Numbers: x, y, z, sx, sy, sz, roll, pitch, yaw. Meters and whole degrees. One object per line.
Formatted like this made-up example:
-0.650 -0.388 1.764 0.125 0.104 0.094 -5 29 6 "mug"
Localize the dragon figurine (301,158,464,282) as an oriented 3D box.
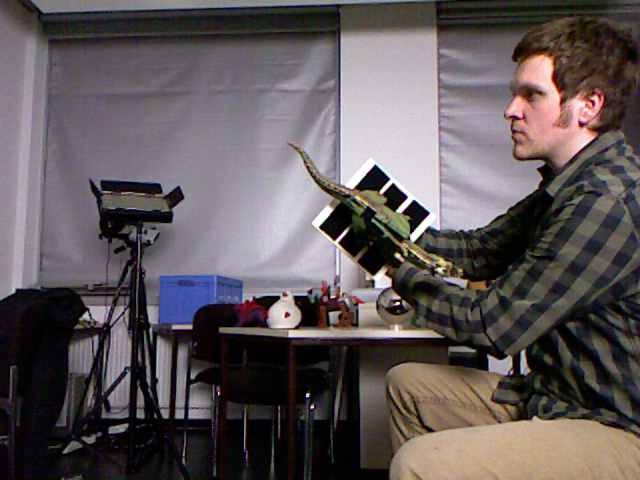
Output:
0.116 -0.045 1.057 0.412 0.123 0.243 37 -1 -2 "dragon figurine"
